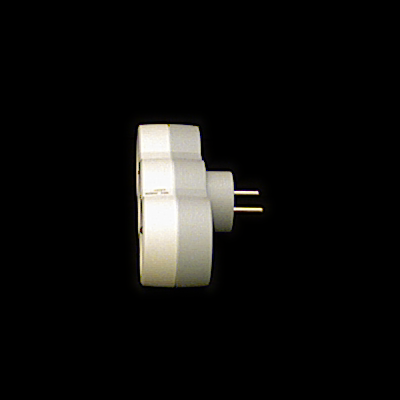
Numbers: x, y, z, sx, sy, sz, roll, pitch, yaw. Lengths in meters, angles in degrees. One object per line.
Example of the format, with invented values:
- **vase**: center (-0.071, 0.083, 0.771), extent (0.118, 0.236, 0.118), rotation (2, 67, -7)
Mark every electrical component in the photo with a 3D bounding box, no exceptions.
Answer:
- **electrical component**: center (0.000, 0.000, 0.643), extent (0.074, 0.053, 0.136), rotation (0, 32, -5)
